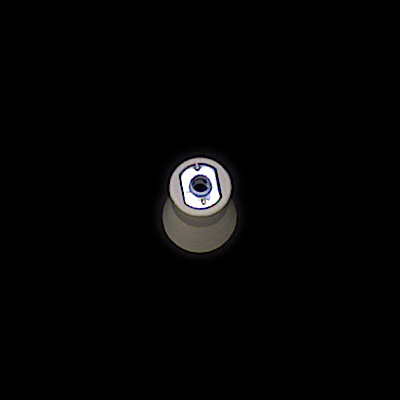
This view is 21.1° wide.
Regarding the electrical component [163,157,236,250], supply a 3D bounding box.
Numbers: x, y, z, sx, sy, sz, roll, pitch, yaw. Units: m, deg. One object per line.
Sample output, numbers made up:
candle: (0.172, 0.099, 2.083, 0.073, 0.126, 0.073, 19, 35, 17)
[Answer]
electrical component: (0.000, 0.000, 0.624, 0.044, 0.044, 0.065, 0, -17, -1)
